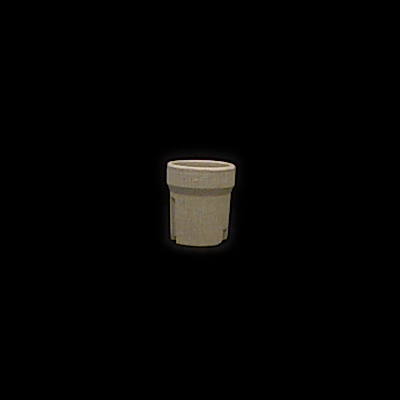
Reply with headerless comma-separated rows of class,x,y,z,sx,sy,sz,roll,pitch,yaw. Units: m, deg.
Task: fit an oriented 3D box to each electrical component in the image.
electrical component,0.000,0.000,0.645,0.040,0.046,0.040,1,11,0
